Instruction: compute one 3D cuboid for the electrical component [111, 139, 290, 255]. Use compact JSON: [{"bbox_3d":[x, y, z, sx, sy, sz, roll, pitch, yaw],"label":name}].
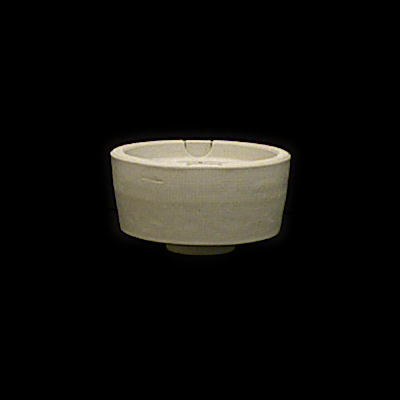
[{"bbox_3d":[0.000,0.000,0.654,0.108,0.061,0.107,1,11,0],"label":"electrical component"}]
